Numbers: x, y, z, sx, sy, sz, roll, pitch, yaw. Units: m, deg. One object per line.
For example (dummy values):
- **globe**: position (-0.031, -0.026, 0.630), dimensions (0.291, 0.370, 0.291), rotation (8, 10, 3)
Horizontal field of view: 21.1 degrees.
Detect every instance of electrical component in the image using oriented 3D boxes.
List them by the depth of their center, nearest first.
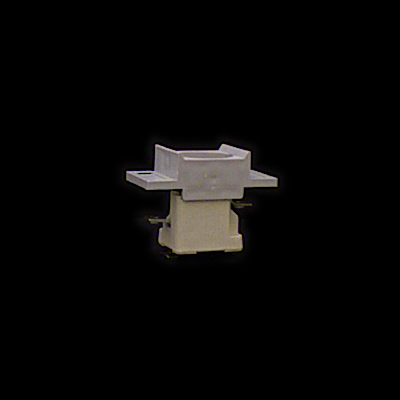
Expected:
- **electrical component**: position (0.000, 0.000, 0.642), dimensions (0.081, 0.064, 0.041), rotation (-2, 13, -20)
